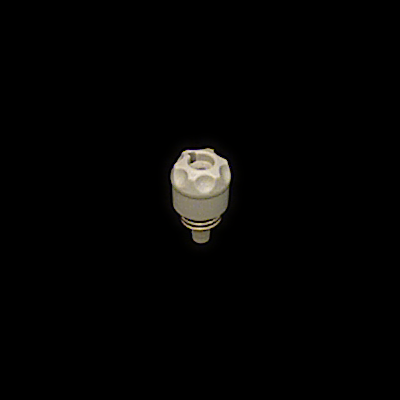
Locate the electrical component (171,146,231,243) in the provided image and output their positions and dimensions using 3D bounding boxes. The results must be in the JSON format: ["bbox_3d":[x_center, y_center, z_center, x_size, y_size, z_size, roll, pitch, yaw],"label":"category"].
[{"bbox_3d":[0.000,0.000,0.639,0.035,0.062,0.035,1,42,0],"label":"electrical component"}]
